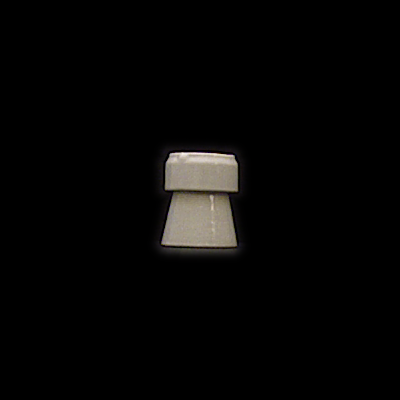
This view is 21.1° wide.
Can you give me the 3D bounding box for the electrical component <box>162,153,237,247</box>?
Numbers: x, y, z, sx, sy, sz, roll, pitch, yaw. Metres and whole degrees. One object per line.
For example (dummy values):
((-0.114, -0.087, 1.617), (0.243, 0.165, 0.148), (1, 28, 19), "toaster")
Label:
((0.000, 0.000, 0.649), (0.045, 0.055, 0.044), (1, 2, 0), "electrical component")
